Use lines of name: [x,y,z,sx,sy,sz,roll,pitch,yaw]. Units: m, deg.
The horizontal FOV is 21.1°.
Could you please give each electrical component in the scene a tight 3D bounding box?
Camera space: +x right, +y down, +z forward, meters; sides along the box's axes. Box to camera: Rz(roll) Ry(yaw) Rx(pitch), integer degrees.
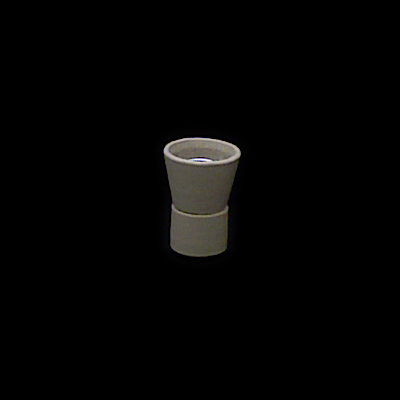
electrical component: [0.000,0.000,0.637,0.044,0.066,0.044,2,22,-1]
